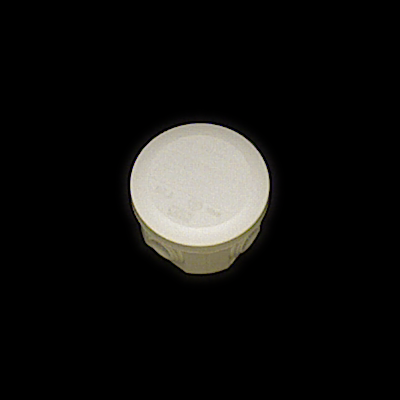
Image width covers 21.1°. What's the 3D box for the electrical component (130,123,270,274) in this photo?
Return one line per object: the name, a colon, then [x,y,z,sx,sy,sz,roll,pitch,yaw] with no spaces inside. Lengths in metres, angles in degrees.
electrical component: [0.000,0.000,0.630,0.080,0.080,0.050,0,-27,0]
